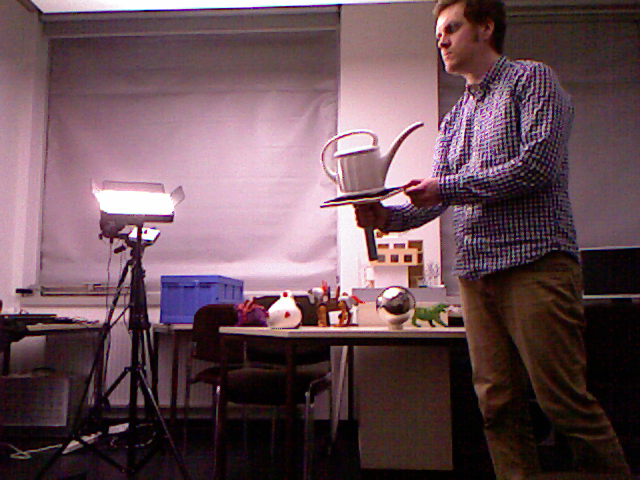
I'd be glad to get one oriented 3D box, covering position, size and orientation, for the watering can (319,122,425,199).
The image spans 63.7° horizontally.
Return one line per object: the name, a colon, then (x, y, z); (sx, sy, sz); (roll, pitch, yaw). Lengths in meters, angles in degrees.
watering can: (0.159, -0.231, 1.546); (0.347, 0.222, 0.105); (-6, 16, 28)
